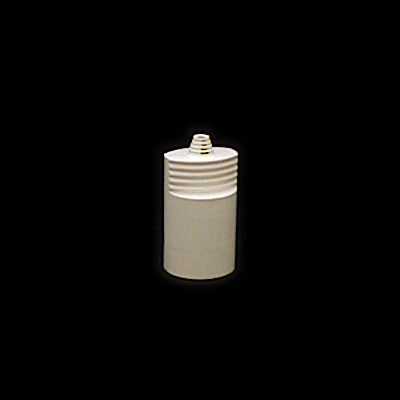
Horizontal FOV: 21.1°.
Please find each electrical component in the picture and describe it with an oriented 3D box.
[{"bbox_3d":[0.000,0.000,0.635,0.043,0.082,0.042,1,21,0],"label":"electrical component"}]
